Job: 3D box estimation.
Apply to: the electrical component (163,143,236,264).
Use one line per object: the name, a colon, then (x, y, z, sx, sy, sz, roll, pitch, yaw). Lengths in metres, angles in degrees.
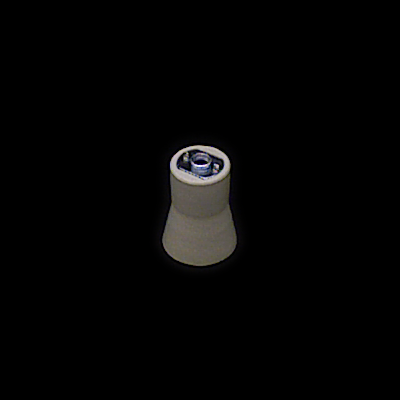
electrical component: (0.000, 0.000, 0.628, 0.044, 0.066, 0.044, 0, 43, 0)
